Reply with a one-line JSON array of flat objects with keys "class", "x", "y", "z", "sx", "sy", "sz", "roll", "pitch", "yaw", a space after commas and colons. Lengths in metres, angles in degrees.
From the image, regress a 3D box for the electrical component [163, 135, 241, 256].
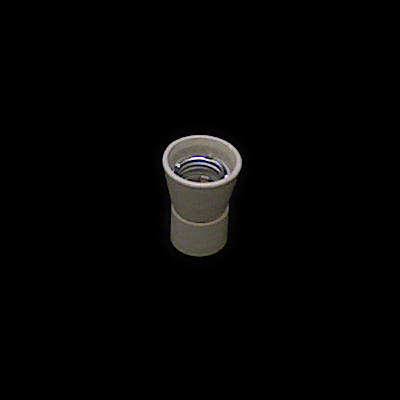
[{"class": "electrical component", "x": 0.000, "y": 0.000, "z": 0.629, "sx": 0.044, "sy": 0.066, "sz": 0.044, "roll": 1, "pitch": 42, "yaw": -1}]
